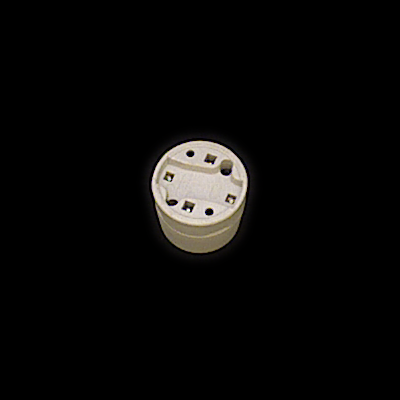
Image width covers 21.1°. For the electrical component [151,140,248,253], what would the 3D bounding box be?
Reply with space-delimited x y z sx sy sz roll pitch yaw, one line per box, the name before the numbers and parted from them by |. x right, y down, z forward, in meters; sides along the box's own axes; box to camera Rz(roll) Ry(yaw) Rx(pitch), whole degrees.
electrical component | 0.000 0.000 0.634 0.055 0.056 0.047 0 -27 -1
